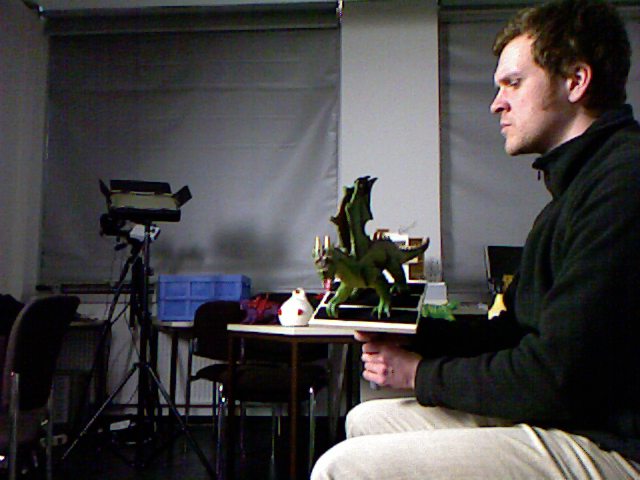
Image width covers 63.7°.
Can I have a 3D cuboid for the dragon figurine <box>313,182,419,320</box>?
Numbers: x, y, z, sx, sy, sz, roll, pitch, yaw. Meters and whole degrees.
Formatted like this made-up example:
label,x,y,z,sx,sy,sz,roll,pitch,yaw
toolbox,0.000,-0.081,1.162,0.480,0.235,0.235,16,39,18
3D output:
label,x,y,z,sx,sy,sz,roll,pitch,yaw
dragon figurine,0.100,0.005,0.996,0.122,0.239,0.417,5,26,29
